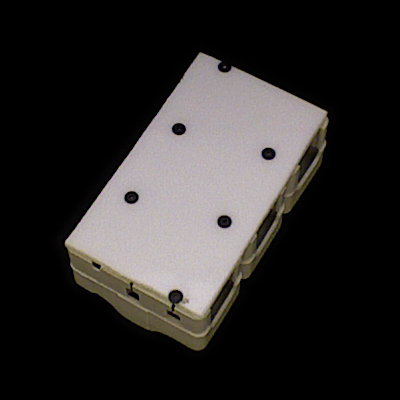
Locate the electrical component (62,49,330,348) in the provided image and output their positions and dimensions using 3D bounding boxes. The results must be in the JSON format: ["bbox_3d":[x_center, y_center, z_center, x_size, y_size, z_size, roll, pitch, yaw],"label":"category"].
[{"bbox_3d":[0.000,0.000,0.633,0.089,0.149,0.062,28,-24,13],"label":"electrical component"}]
